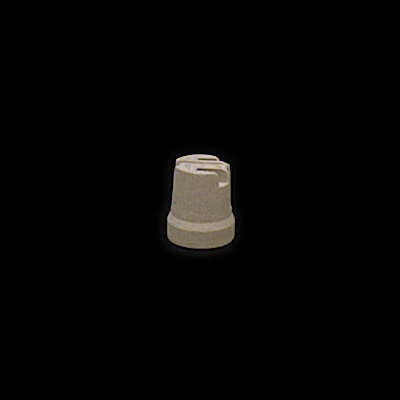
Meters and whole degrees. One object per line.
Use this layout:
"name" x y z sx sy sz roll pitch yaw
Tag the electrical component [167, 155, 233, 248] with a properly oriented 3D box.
"electrical component" 0.000 0.000 0.641 0.040 0.046 0.040 1 22 0
